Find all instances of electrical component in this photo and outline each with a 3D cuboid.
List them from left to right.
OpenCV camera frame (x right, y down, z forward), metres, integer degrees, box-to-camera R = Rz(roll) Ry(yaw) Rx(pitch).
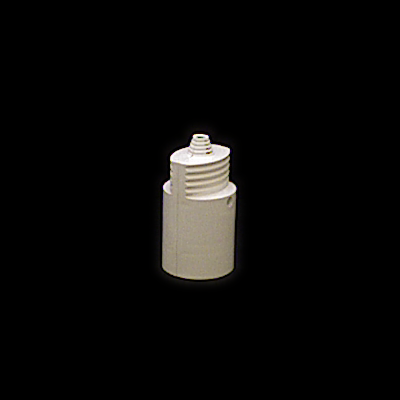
[{"bbox_3d":[0.000,0.000,0.634,0.043,0.082,0.042,1,21,0],"label":"electrical component"}]
